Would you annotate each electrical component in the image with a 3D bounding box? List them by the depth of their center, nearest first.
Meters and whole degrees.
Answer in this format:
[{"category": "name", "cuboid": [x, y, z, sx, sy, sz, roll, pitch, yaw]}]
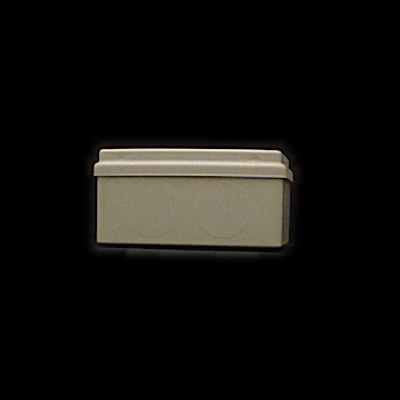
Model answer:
[{"category": "electrical component", "cuboid": [0.000, 0.000, 0.649, 0.108, 0.056, 0.109, 1, 0, 7]}]
